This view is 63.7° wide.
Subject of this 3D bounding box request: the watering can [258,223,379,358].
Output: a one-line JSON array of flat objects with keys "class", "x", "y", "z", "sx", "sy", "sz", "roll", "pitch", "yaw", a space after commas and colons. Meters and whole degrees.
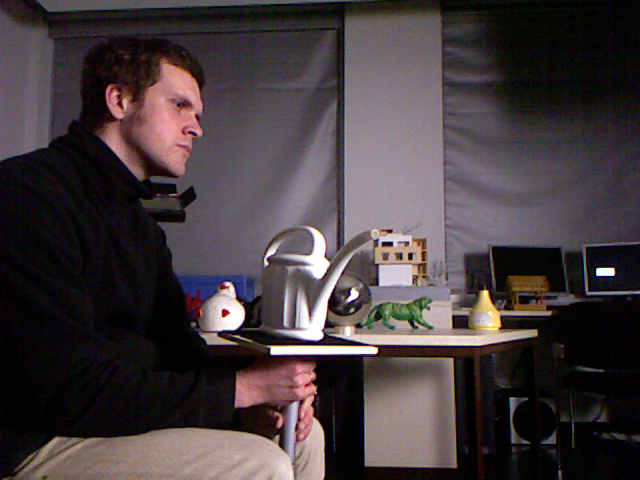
[{"class": "watering can", "x": -0.022, "y": 0.082, "z": 0.852, "sx": 0.104, "sy": 0.225, "sz": 0.347, "roll": 3, "pitch": -3, "yaw": -32}]
